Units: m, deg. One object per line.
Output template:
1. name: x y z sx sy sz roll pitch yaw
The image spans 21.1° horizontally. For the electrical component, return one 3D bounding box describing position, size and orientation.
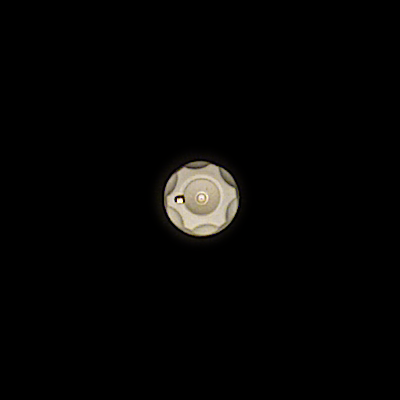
1. electrical component: 0.000 0.000 0.635 0.043 0.043 0.062 0 -6 0
